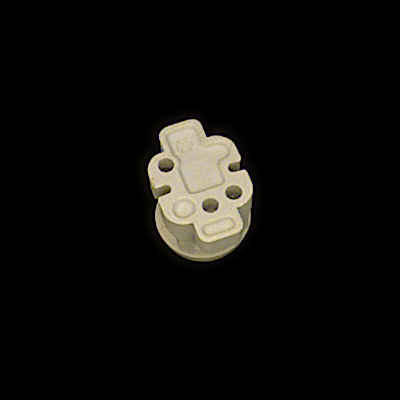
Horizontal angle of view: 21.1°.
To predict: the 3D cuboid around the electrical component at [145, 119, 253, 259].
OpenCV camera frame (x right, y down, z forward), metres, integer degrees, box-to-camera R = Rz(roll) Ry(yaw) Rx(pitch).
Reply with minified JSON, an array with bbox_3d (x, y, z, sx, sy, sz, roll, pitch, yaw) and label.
[{"bbox_3d":[0.000,0.000,0.636,0.058,0.078,0.057,-19,-26,-8],"label":"electrical component"}]
